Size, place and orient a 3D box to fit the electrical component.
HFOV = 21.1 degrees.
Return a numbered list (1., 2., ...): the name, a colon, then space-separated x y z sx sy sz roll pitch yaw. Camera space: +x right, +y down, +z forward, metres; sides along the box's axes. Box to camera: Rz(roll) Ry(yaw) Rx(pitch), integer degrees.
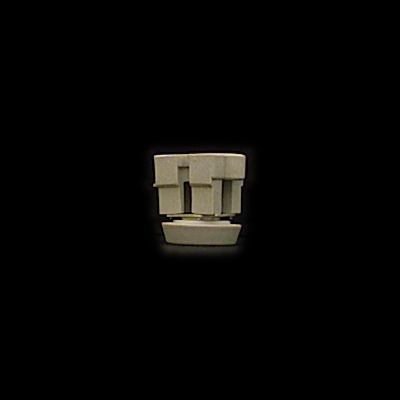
1. electrical component: 0.000 0.000 0.657 0.066 0.055 0.049 1 3 33
